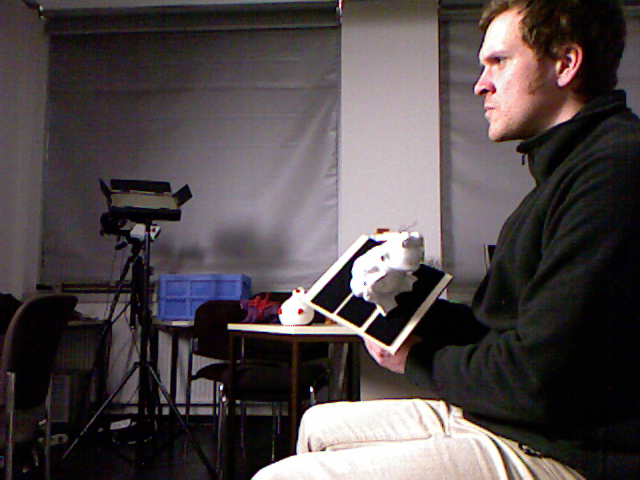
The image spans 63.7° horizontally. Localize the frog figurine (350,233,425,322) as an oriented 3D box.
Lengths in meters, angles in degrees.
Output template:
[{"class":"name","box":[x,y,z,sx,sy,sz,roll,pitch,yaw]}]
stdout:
[{"class":"frog figurine","box":[0.115,0.042,0.898,0.139,0.156,0.125,-26,50,-21]}]
